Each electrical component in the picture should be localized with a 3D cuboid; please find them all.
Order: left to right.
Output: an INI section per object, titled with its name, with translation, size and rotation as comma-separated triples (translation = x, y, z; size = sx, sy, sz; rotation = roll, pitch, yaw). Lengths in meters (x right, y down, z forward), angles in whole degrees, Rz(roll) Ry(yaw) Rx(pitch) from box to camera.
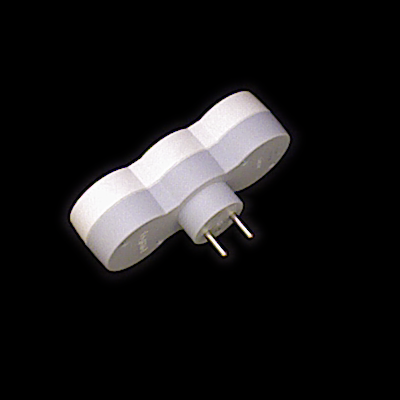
[electrical component]
translation = 0.000, 0.000, 0.632
size = 0.138, 0.073, 0.052
rotation = -34, -20, -17
